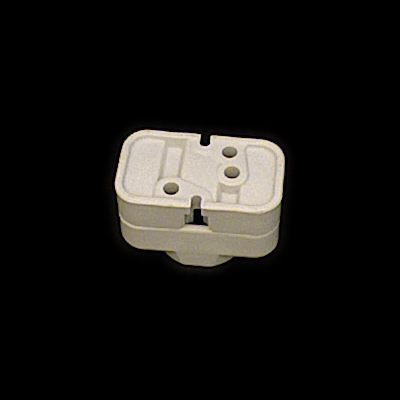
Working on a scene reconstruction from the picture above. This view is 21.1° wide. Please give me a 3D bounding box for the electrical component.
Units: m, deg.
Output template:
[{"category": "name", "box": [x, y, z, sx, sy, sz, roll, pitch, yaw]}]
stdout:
[{"category": "electrical component", "box": [0.000, 0.000, 0.637, 0.095, 0.053, 0.059, 5, -37, 4]}]
